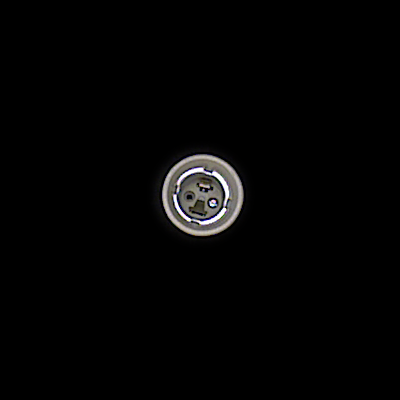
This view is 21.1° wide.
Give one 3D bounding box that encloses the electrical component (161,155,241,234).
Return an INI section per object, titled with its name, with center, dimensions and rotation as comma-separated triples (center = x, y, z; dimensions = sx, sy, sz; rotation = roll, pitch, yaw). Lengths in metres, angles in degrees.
[electrical component]
center = 0.000, 0.000, 0.625
dimensions = 0.044, 0.044, 0.065
rotation = 0, -6, -1
